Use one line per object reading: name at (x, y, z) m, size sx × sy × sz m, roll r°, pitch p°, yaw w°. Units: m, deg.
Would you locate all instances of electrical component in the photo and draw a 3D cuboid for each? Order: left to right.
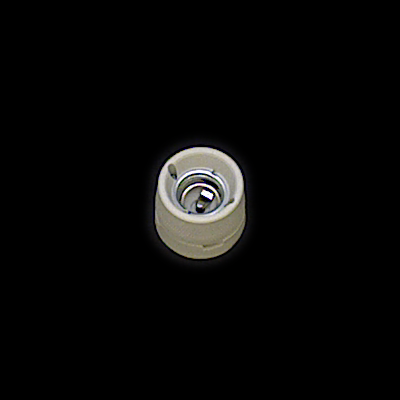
electrical component at (0.000, 0.000, 0.632) m, size 0.055 × 0.056 × 0.047 m, roll 0°, pitch -26°, yaw -1°
